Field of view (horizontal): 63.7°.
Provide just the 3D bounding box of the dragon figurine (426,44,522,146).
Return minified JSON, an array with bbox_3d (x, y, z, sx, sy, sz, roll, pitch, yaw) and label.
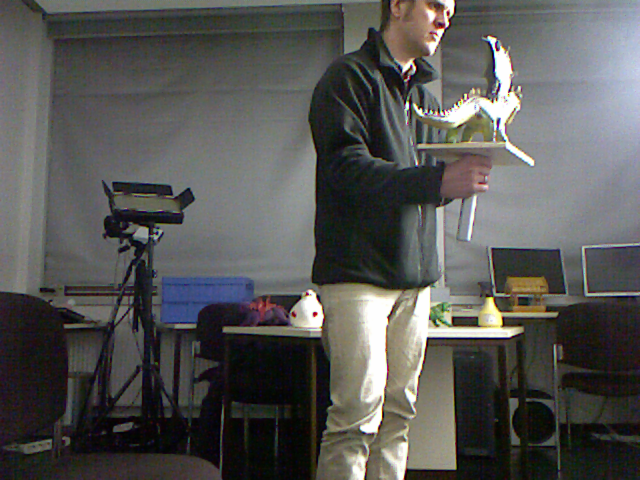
[{"bbox_3d":[0.380,-0.335,1.202,0.123,0.243,0.410,14,4,38],"label":"dragon figurine"}]
